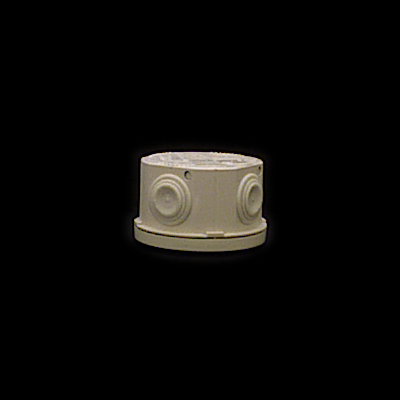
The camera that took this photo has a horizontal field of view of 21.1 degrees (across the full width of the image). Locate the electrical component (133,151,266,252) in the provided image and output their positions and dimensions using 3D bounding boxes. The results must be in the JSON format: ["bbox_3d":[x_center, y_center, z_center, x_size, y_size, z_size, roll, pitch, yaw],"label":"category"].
[{"bbox_3d":[0.000,0.000,0.646,0.080,0.051,0.079,2,10,0],"label":"electrical component"}]
